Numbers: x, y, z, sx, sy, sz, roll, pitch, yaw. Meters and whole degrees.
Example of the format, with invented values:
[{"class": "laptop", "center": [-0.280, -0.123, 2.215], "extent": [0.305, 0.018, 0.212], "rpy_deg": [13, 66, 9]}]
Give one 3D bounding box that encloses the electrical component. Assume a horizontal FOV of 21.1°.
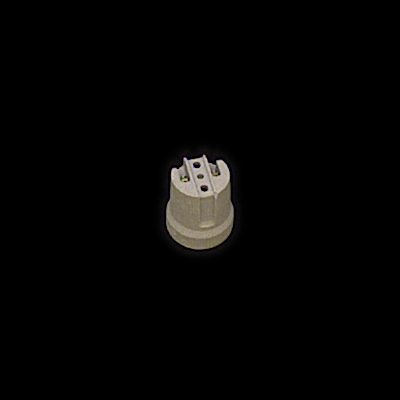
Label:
[{"class": "electrical component", "center": [0.000, 0.000, 0.635], "extent": [0.040, 0.040, 0.046], "rpy_deg": [0, -37, -1]}]
